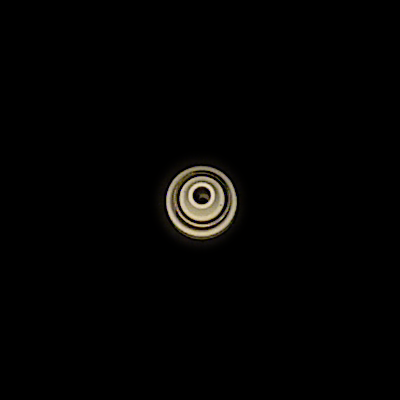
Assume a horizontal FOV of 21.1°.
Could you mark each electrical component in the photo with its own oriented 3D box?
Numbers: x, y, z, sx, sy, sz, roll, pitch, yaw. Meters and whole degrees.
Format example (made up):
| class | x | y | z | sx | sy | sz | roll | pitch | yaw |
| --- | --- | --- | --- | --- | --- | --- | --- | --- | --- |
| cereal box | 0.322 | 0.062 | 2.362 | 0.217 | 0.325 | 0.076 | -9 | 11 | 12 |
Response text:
| class | x | y | z | sx | sy | sz | roll | pitch | yaw |
| --- | --- | --- | --- | --- | --- | --- | --- | --- | --- |
| electrical component | 0.000 | 0.000 | 0.635 | 0.043 | 0.043 | 0.062 | 0 | -6 | 0 |
